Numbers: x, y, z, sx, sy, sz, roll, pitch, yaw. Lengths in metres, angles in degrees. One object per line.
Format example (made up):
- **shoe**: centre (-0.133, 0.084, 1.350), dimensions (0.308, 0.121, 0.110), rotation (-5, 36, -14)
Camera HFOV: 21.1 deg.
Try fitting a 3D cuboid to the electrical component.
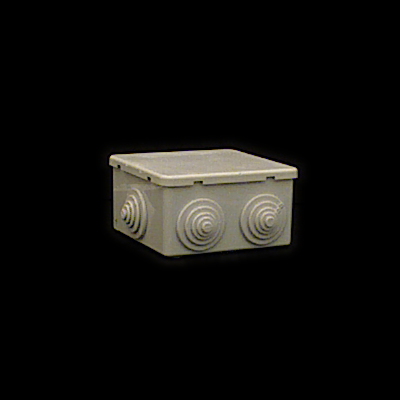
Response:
- **electrical component**: centre (0.000, 0.000, 0.654), dimensions (0.100, 0.049, 0.098), rotation (-4, 12, -26)
